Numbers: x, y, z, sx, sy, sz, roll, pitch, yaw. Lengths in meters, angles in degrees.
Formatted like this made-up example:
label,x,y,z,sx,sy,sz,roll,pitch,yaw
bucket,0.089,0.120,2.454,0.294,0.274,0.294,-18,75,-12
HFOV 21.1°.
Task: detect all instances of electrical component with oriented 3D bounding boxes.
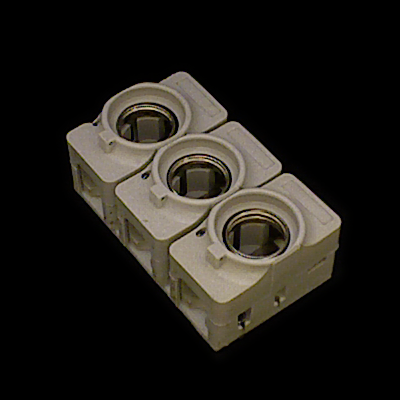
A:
label,x,y,z,sx,sy,sz,roll,pitch,yaw
electrical component,0.000,0.000,0.632,0.089,0.148,0.062,-32,-31,-22
